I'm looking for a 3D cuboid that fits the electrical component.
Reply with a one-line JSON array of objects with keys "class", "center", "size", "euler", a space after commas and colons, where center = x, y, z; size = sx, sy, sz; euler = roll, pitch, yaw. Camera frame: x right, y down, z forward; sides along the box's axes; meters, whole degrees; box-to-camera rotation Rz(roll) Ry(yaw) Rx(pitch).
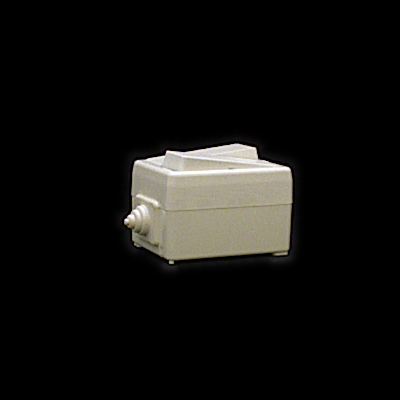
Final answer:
[{"class": "electrical component", "center": [0.000, 0.000, 0.643], "size": [0.096, 0.061, 0.061], "euler": [-3, 11, -24]}]
